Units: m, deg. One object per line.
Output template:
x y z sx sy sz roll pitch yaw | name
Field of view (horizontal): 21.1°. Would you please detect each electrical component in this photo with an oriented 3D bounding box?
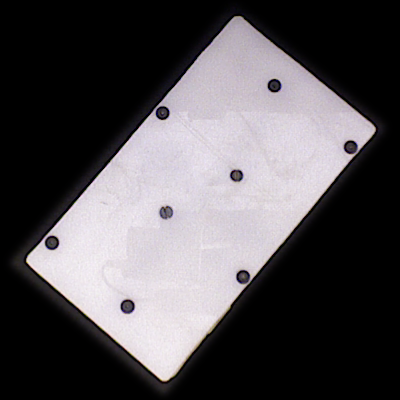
0.000 0.000 0.625 0.105 0.187 0.060 40 -5 5 | electrical component
